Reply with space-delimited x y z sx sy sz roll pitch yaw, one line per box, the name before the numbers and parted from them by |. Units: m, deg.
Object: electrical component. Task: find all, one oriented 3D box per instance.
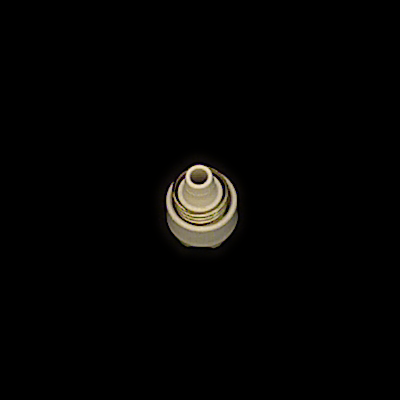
electrical component | 0.000 0.000 0.634 0.043 0.043 0.062 0 -27 2
